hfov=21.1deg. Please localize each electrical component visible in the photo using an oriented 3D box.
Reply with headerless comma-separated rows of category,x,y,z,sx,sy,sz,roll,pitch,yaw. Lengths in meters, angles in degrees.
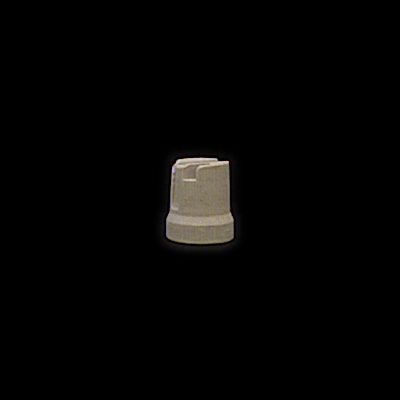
electrical component,0.000,0.000,0.646,0.040,0.046,0.040,1,11,0
